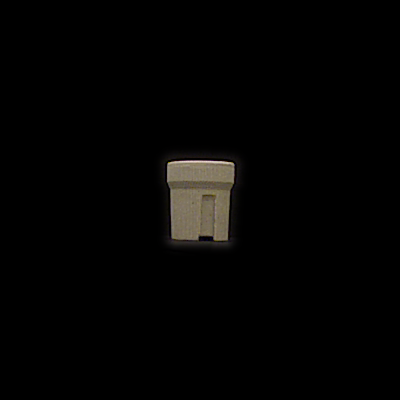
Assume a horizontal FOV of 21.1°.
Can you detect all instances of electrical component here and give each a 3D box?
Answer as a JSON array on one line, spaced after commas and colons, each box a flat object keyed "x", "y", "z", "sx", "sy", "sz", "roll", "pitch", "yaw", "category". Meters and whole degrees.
[{"x": 0.000, "y": 0.000, "z": 0.651, "sx": 0.040, "sy": 0.046, "sz": 0.040, "roll": 1, "pitch": 1, "yaw": 1, "category": "electrical component"}]
